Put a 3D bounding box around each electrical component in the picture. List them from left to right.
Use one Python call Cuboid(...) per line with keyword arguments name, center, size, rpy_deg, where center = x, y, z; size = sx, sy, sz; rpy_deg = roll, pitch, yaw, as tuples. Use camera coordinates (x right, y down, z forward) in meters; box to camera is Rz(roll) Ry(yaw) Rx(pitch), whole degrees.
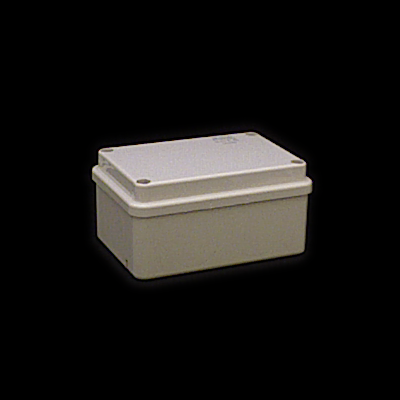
Cuboid(name="electrical component", center=(0.000, 0.000, 0.641), size=(0.113, 0.058, 0.077), rpy_deg=(-8, 23, -23))
